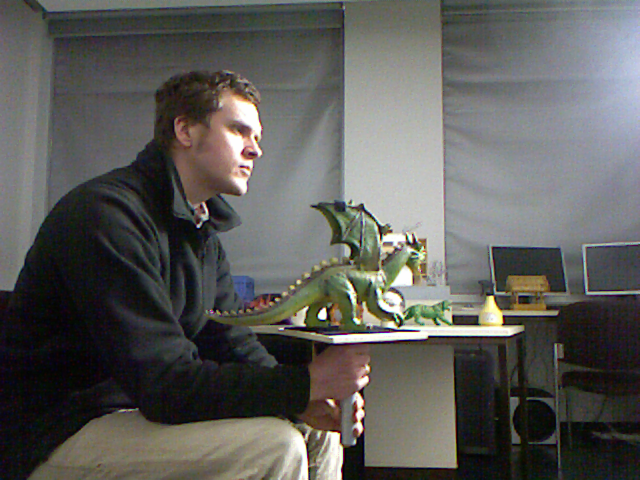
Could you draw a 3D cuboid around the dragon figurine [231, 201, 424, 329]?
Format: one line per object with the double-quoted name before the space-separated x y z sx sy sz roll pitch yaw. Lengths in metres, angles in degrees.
"dragon figurine" 0.041 0.047 0.966 0.410 0.243 0.122 4 -3 -29
